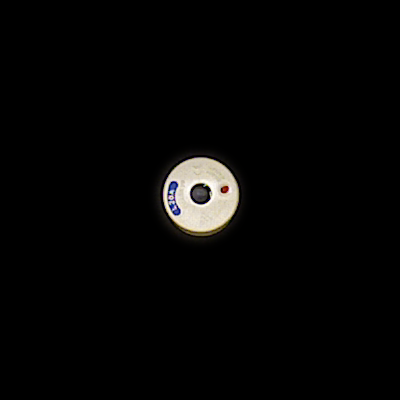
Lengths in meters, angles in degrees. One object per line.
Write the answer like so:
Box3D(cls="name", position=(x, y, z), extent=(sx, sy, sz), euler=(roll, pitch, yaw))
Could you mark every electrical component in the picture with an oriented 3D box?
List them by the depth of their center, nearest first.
Box3D(cls="electrical component", position=(0.000, 0.000, 0.617), extent=(0.040, 0.040, 0.078), euler=(0, -6, 0))
